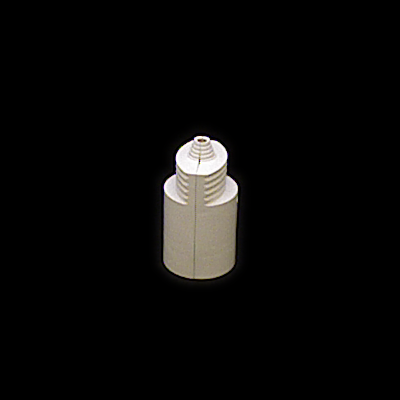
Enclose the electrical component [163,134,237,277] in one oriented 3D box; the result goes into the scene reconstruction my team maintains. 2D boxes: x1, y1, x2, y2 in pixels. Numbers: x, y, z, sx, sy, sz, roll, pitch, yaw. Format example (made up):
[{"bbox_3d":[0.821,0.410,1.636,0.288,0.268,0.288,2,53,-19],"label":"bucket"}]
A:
[{"bbox_3d":[0.000,0.000,0.628,0.043,0.082,0.042,1,31,0],"label":"electrical component"}]
